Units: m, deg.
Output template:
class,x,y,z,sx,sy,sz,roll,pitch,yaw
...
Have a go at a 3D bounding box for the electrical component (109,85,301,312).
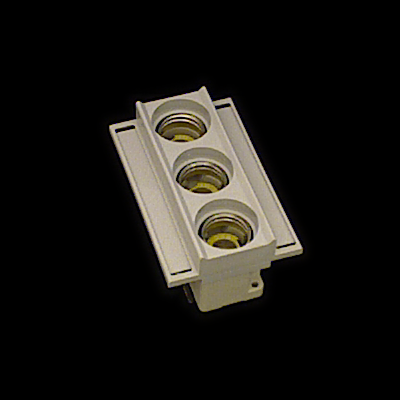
class,x,y,z,sx,sy,sz,roll,pitch,yaw
electrical component,0.000,0.000,0.640,0.079,0.120,0.063,-14,-36,-12
